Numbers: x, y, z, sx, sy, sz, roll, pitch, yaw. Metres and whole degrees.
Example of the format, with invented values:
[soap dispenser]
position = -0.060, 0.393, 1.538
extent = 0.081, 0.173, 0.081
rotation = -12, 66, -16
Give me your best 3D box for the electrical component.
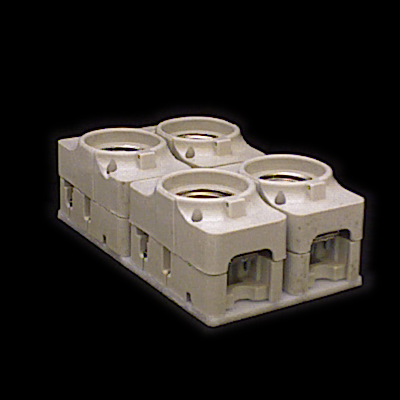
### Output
[electrical component]
position = 0.000, 0.000, 0.639
extent = 0.105, 0.061, 0.184
rotation = -12, 24, -31
